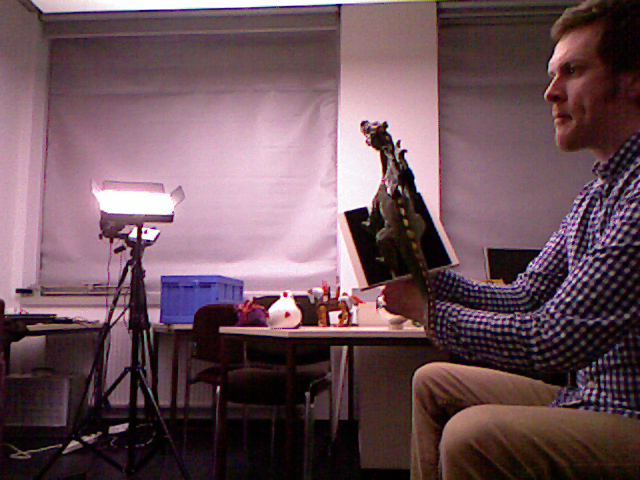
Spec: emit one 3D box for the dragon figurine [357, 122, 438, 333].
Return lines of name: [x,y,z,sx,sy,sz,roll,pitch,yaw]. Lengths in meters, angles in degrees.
dragon figurine: [0.154,-0.055,0.958,0.123,0.420,0.238,-18,-31,-4]
